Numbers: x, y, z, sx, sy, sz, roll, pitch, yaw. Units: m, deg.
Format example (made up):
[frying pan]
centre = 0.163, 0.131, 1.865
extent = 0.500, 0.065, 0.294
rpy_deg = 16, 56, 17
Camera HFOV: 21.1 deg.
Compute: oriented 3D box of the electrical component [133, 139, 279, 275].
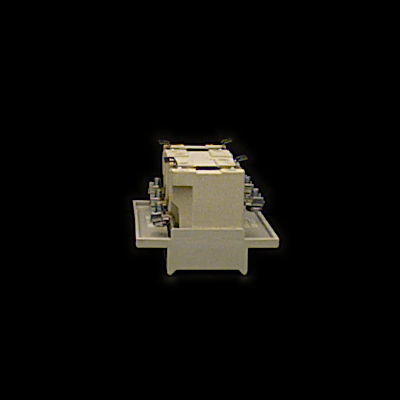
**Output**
[electrical component]
centre = 0.000, 0.000, 0.650
extent = 0.079, 0.063, 0.120
rpy_deg = 0, 11, -5
